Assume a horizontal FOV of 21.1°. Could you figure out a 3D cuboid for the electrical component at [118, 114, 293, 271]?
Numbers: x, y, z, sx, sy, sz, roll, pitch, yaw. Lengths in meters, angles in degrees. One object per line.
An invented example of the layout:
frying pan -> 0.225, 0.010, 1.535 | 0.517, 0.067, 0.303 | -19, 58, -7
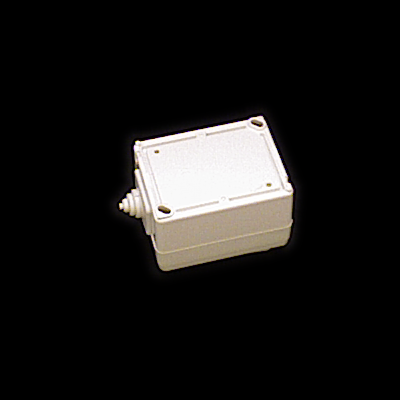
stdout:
electrical component -> 0.000, 0.000, 0.630 | 0.096, 0.061, 0.061 | -12, -37, -9
